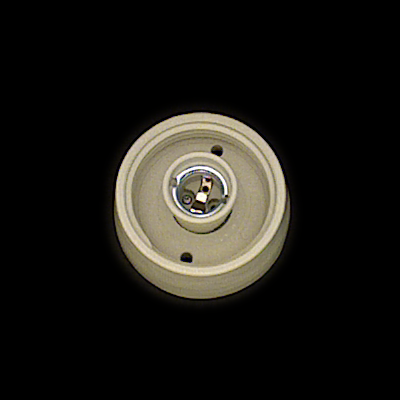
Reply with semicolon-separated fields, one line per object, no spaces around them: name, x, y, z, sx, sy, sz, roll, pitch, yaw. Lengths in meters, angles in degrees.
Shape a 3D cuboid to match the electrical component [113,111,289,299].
electrical component;0.000;0.000;0.633;0.108;0.108;0.060;0;-16;0
